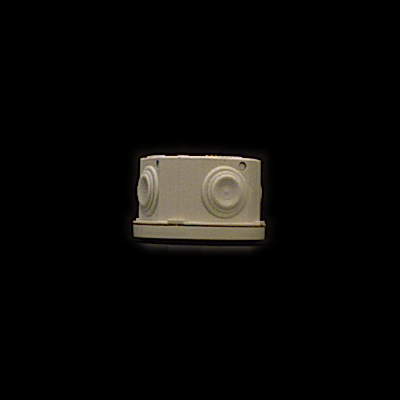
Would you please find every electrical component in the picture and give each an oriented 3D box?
[{"bbox_3d":[0.000,0.000,0.651,0.080,0.051,0.080,1,0,0],"label":"electrical component"}]
